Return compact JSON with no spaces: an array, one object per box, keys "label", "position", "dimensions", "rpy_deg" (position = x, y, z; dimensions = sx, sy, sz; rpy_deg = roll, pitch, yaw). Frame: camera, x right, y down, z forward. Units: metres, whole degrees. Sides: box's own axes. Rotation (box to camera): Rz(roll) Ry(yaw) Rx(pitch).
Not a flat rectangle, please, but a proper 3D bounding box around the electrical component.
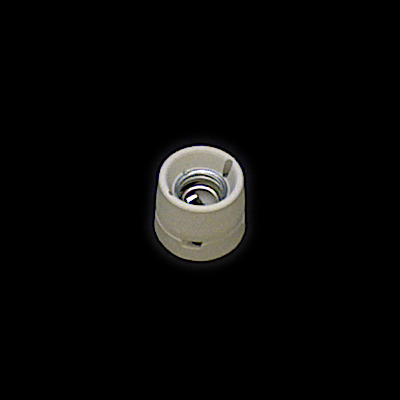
[{"label":"electrical component","position":[0.000,0.000,0.635],"dimensions":[0.055,0.055,0.047],"rpy_deg":[0,-38,-2]}]
